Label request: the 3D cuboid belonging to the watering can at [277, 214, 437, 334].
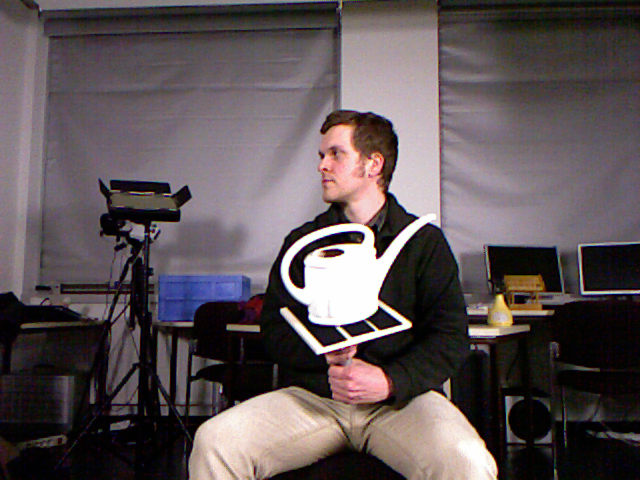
[{"bbox_3d":[0.084,0.063,1.034,0.349,0.221,0.105,-10,24,-19],"label":"watering can"}]
